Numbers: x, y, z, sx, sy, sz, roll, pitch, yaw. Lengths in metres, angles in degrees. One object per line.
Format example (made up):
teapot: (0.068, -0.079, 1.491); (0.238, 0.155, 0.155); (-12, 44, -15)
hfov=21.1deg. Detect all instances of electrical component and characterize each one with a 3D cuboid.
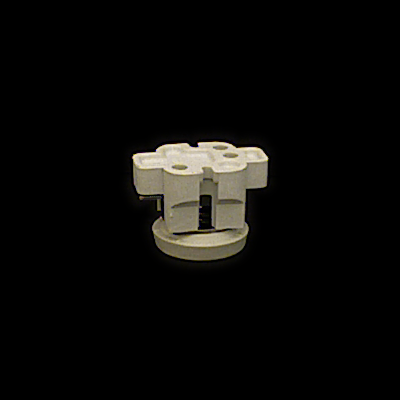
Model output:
electrical component: (0.000, 0.000, 0.645); (0.079, 0.057, 0.057); (-5, 23, -12)
